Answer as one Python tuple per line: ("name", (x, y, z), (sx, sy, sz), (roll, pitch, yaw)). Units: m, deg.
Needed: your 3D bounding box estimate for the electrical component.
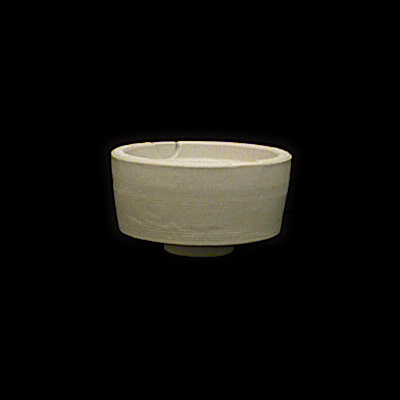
("electrical component", (0.000, 0.000, 0.649), (0.108, 0.061, 0.107), (1, 11, 0))
